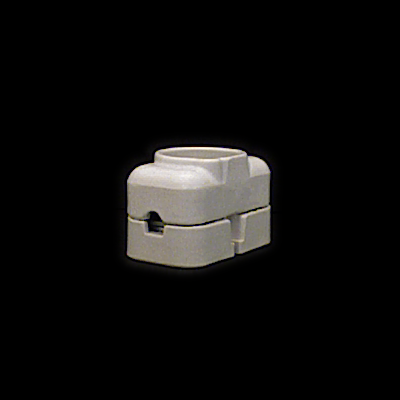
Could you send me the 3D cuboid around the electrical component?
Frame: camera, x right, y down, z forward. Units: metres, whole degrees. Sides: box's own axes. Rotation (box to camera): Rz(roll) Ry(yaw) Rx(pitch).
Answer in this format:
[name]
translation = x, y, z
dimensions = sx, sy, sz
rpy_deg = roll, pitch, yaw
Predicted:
[electrical component]
translation = 0.000, 0.000, 0.650
dimensions = 0.053, 0.060, 0.095
rpy_deg = 8, 14, 34
